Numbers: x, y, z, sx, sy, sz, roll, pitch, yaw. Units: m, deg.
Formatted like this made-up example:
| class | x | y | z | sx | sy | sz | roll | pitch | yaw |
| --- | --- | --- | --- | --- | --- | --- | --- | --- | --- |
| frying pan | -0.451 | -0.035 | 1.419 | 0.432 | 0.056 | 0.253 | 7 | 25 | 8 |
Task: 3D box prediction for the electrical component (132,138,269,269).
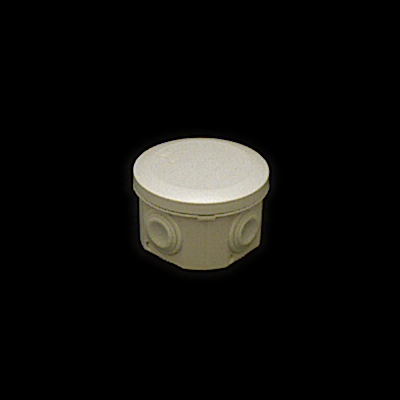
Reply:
| class | x | y | z | sx | sy | sz | roll | pitch | yaw |
| --- | --- | --- | --- | --- | --- | --- | --- | --- | --- |
| electrical component | 0.000 | 0.000 | 0.638 | 0.080 | 0.051 | 0.079 | 1 | 31 | 0 |
